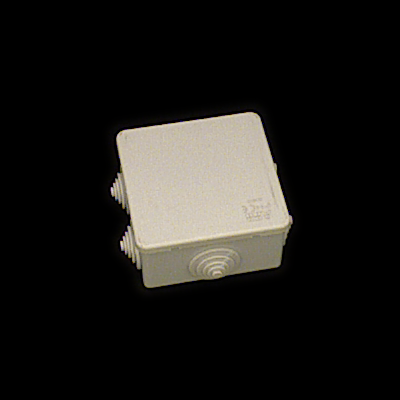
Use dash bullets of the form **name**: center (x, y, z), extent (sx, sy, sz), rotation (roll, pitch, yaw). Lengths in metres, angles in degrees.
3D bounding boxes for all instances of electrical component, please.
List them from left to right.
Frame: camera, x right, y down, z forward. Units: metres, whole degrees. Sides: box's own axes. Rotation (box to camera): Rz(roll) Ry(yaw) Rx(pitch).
- **electrical component**: center (0.000, 0.000, 0.640), extent (0.100, 0.099, 0.049), rotation (-8, -36, -7)
